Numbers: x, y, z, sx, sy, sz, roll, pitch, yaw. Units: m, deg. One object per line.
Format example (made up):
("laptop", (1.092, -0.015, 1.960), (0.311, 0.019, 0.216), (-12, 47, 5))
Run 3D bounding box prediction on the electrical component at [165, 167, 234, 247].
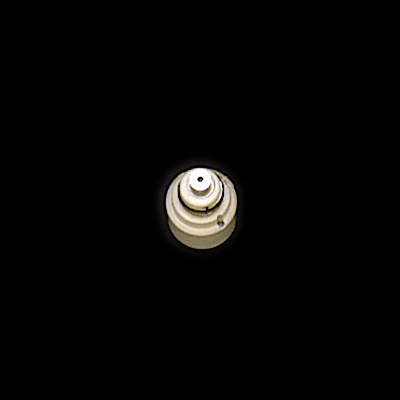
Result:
("electrical component", (0.000, 0.000, 0.617), (0.040, 0.040, 0.078), (0, -17, 1))
